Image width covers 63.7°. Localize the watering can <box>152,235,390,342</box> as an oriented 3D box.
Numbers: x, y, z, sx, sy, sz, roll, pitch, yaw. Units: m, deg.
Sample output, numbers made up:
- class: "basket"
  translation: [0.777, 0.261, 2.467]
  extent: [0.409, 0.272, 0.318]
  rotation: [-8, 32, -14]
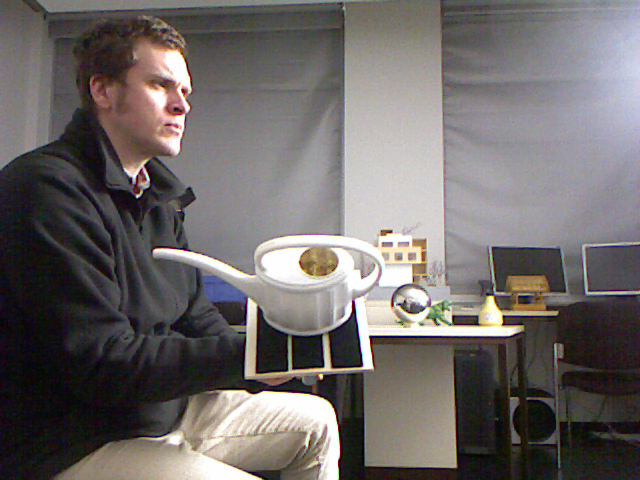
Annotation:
- class: "watering can"
  translation: [-0.067, 0.070, 0.812]
  extent: [0.349, 0.107, 0.219]
  rotation: [-1, -42, 0]
